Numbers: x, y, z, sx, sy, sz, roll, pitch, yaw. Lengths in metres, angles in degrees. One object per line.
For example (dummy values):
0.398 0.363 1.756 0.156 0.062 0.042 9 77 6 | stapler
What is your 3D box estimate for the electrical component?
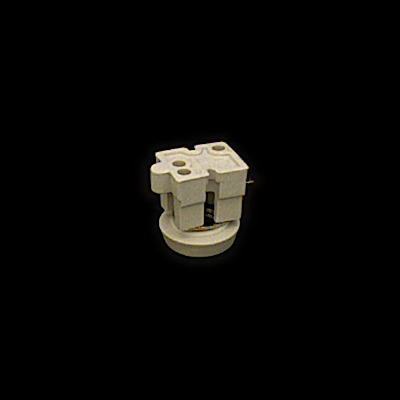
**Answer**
0.000 0.000 0.642 0.067 0.056 0.047 -12 33 -21 | electrical component
